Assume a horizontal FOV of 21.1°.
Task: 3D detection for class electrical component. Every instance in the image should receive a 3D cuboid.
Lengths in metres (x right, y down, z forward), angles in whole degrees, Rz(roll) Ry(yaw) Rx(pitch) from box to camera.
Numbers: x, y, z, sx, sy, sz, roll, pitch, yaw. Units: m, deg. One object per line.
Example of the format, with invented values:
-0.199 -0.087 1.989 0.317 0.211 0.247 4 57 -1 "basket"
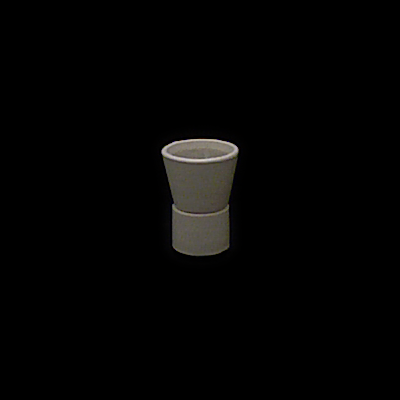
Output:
0.000 0.000 0.638 0.044 0.066 0.044 0 21 0 "electrical component"
